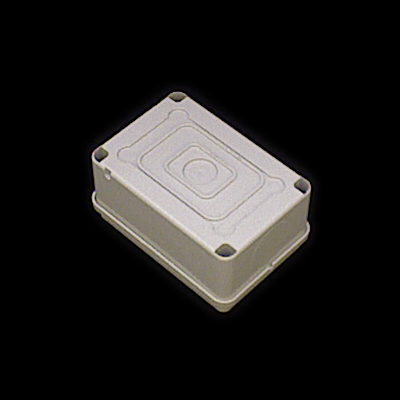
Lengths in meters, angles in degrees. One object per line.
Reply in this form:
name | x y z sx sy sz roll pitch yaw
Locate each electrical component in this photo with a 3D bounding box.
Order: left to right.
electrical component | 0.000 0.000 0.629 0.112 0.057 0.078 37 60 24
